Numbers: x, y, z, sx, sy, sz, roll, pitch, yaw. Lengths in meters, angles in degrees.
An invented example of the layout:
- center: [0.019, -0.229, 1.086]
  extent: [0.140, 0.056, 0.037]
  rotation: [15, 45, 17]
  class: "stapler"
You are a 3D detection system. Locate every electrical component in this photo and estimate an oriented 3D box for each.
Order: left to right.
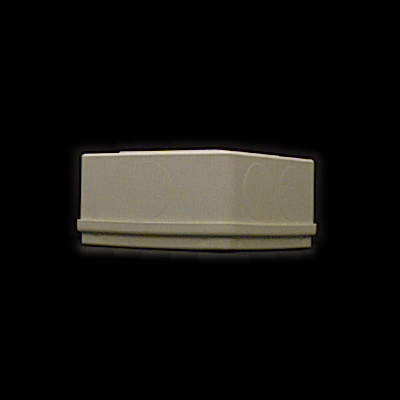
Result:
- center: [0.000, 0.000, 0.647]
  extent: [0.108, 0.056, 0.109]
  rotation: [1, 0, 33]
  class: "electrical component"
